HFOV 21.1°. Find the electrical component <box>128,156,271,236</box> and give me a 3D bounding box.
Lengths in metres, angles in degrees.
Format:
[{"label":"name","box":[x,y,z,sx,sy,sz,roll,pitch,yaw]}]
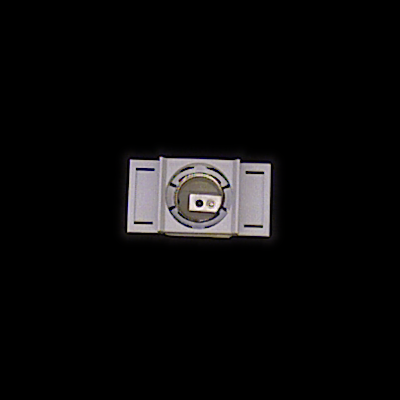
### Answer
[{"label":"electrical component","box":[0.000,0.000,0.625,0.081,0.042,0.063,2,-7,1]}]
